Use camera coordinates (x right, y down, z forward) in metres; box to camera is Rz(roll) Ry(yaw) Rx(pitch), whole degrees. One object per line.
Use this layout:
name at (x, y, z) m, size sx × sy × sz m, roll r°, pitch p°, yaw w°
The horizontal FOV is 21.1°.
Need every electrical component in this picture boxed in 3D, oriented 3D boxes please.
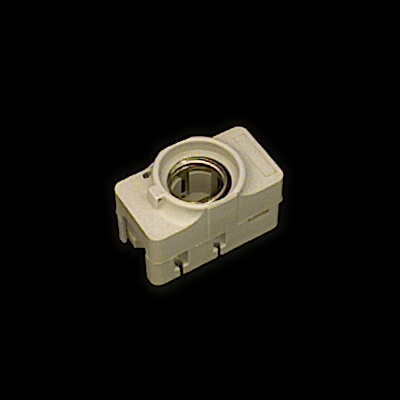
electrical component at (0.000, 0.000, 0.637) m, size 0.090 × 0.050 × 0.056 m, roll -27°, pitch -33°, yaw -19°
